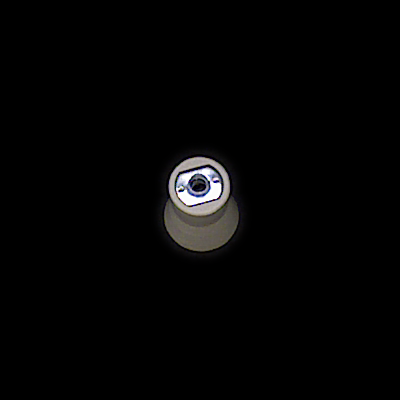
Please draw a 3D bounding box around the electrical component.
[{"bbox_3d":[0.000,0.000,0.625,0.044,0.044,0.065,0,-18,1],"label":"electrical component"}]
